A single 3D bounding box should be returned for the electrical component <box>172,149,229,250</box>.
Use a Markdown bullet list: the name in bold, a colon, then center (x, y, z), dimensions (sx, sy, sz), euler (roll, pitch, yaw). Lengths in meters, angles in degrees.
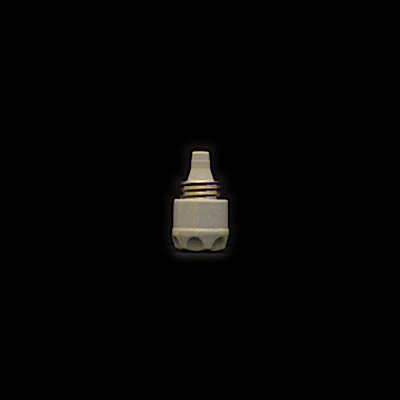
- **electrical component**: center (0.000, 0.000, 0.662), dimensions (0.035, 0.061, 0.035), euler (0, 2, 0)
